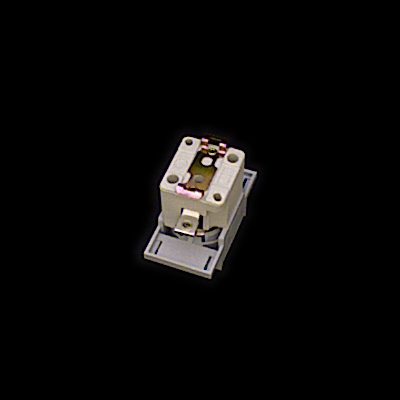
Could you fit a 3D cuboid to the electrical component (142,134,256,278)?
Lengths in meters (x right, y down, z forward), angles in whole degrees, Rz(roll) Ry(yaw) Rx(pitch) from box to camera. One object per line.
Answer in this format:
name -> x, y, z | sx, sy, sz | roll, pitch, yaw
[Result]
electrical component -> 0.000, 0.000, 0.628 | 0.042, 0.080, 0.064 | 16, -36, 12
